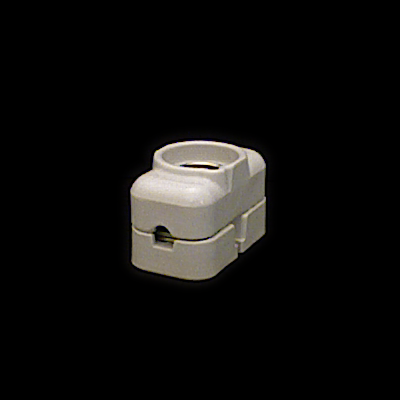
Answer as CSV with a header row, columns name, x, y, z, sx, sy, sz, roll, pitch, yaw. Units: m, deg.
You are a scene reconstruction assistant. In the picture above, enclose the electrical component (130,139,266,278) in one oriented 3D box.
name,x,y,z,sx,sy,sz,roll,pitch,yaw
electrical component,0.000,0.000,0.645,0.053,0.060,0.095,11,24,25
